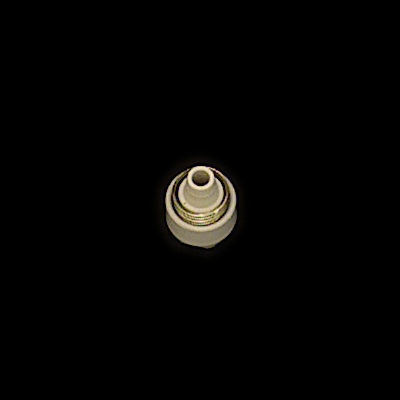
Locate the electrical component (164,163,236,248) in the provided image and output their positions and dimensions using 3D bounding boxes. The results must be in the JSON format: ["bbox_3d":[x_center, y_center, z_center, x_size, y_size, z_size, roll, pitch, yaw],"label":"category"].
[{"bbox_3d":[0.000,0.000,0.633,0.043,0.043,0.062,0,-25,0],"label":"electrical component"}]
